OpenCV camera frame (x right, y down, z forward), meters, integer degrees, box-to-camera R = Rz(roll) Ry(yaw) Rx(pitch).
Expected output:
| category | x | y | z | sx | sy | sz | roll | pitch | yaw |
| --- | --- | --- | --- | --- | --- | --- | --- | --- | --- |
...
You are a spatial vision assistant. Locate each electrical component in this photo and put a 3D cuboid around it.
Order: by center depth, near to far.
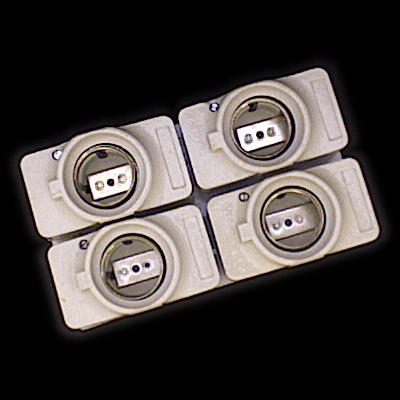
| category | x | y | z | sx | sy | sz | roll | pitch | yaw |
| --- | --- | --- | --- | --- | --- | --- | --- | --- | --- |
| electrical component | 0.000 | 0.000 | 0.626 | 0.186 | 0.106 | 0.060 | -17 | -6 | -2 |
